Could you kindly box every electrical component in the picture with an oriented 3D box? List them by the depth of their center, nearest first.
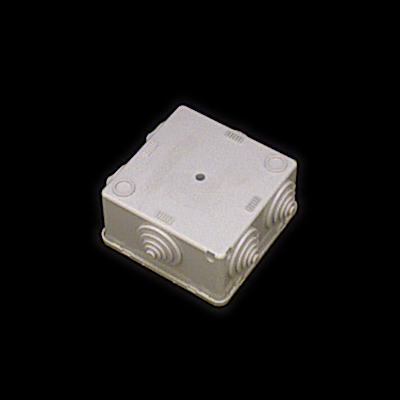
[{"bbox_3d":[0.000,0.000,0.632,0.099,0.100,0.049,28,-33,19],"label":"electrical component"}]
